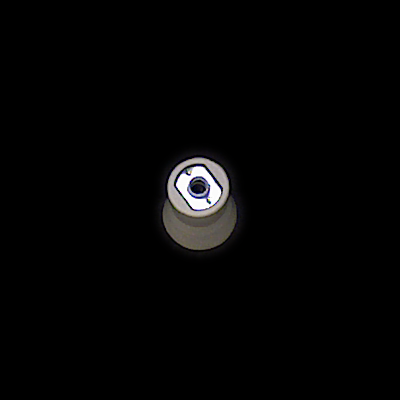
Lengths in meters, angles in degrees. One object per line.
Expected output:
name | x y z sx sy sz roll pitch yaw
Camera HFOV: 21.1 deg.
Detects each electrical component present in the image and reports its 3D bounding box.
electrical component | 0.000 0.000 0.624 0.044 0.044 0.065 0 -16 1
